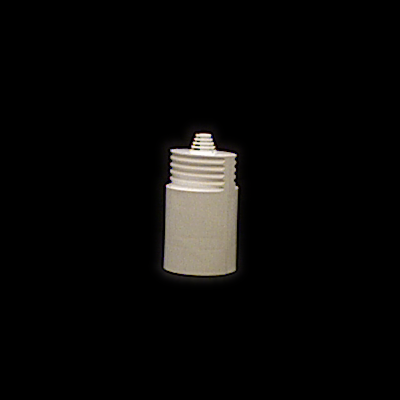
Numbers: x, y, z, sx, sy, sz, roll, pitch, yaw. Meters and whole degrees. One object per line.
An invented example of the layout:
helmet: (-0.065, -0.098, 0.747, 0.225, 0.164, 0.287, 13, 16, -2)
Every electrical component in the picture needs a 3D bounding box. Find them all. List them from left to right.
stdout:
electrical component: (0.000, 0.000, 0.642, 0.043, 0.081, 0.043, 1, 11, 0)
